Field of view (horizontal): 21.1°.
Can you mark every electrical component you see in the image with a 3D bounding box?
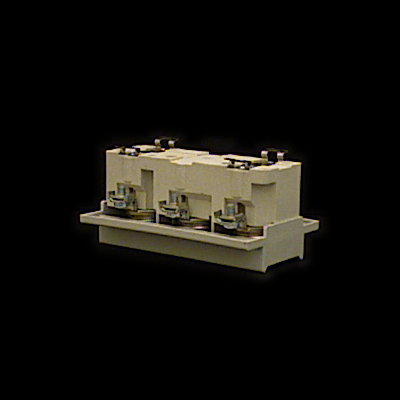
[{"bbox_3d":[0.000,0.000,0.648,0.120,0.063,0.079,8,14,34],"label":"electrical component"}]
